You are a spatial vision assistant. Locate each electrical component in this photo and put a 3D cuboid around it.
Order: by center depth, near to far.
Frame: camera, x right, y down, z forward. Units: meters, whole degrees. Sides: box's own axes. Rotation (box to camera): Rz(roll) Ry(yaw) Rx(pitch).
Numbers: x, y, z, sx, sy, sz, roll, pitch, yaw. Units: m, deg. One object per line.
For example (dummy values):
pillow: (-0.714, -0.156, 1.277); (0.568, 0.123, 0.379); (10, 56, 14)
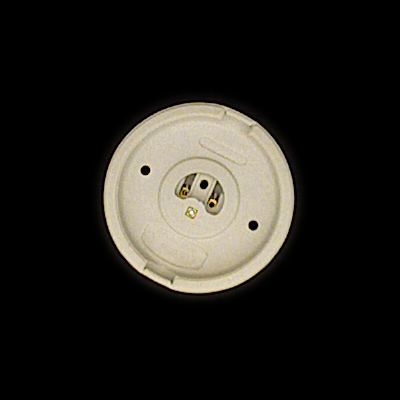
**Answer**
electrical component: (0.000, 0.000, 0.635); (0.108, 0.108, 0.060); (0, -6, 0)
